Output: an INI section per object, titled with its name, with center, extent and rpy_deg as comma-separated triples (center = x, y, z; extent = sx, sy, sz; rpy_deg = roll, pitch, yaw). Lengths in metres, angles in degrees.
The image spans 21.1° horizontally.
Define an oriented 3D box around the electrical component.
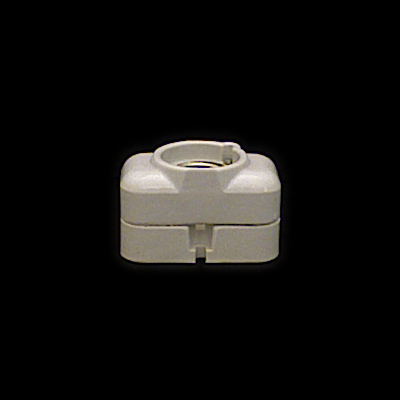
[electrical component]
center = 0.000, 0.000, 0.647
extent = 0.095, 0.060, 0.053
rpy_deg = 0, 22, -3
